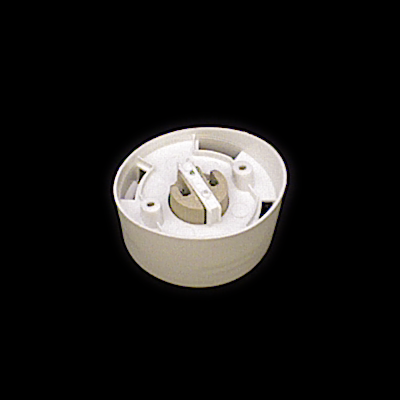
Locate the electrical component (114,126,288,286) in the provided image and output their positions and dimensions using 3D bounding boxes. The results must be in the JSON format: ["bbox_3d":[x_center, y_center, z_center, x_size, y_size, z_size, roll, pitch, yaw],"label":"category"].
[{"bbox_3d":[0.000,0.000,0.625,0.099,0.098,0.064,0,-37,-2],"label":"electrical component"}]
